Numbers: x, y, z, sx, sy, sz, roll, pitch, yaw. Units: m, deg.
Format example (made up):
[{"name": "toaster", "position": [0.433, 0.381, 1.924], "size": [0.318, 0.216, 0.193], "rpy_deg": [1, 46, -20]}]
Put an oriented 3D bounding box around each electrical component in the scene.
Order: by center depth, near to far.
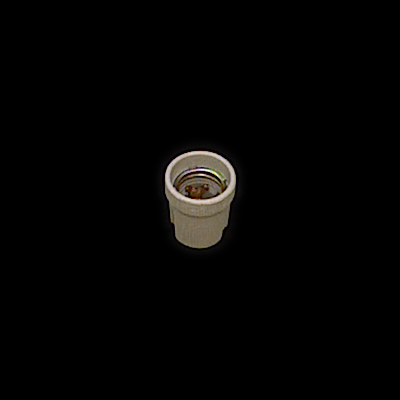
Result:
[{"name": "electrical component", "position": [0.000, 0.000, 0.631], "size": [0.040, 0.040, 0.047], "rpy_deg": [0, -38, -1]}]
